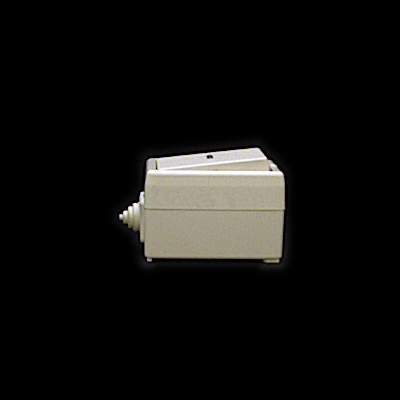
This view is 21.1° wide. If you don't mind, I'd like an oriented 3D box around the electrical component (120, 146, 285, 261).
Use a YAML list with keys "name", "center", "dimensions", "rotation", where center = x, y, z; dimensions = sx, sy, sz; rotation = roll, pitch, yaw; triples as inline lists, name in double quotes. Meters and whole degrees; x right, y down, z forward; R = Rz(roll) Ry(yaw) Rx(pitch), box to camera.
- name: "electrical component"
  center: [0.000, 0.000, 0.644]
  dimensions: [0.096, 0.061, 0.061]
  rotation: [1, 11, -4]
